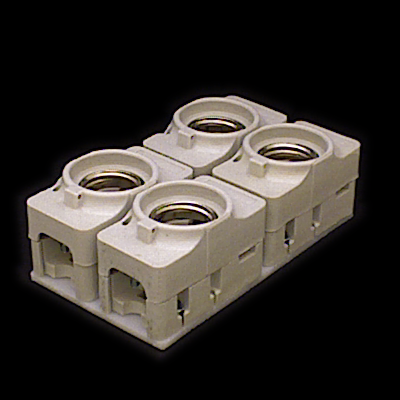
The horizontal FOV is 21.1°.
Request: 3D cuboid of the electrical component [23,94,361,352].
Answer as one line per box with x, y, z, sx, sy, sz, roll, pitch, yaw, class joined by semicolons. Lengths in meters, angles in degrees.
0.000;0.000;0.633;0.104;0.061;0.185;25;39;33;electrical component
